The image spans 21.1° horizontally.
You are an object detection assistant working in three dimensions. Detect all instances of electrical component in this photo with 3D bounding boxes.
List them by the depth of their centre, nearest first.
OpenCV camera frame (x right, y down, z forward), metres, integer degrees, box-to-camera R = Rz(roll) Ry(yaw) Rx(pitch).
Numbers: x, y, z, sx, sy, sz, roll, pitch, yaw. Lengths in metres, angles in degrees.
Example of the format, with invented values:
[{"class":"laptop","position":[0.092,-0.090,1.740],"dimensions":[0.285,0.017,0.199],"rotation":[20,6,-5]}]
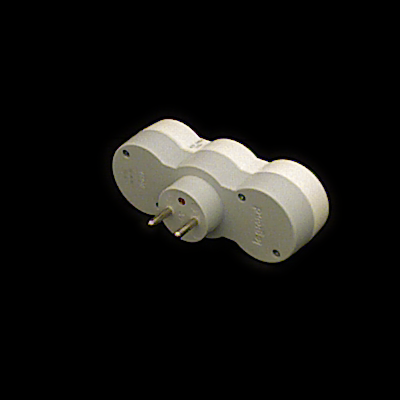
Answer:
[{"class":"electrical component","position":[0.000,0.000,0.642],"dimensions":[0.136,0.053,0.074],"rotation":[22,39,29]}]
